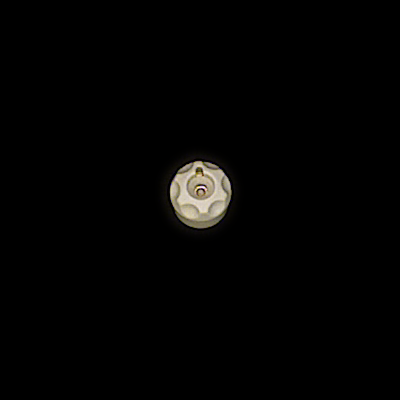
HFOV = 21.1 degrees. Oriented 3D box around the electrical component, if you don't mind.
[{"bbox_3d":[0.000,0.000,0.634,0.035,0.035,0.061,0,-16,1],"label":"electrical component"}]
